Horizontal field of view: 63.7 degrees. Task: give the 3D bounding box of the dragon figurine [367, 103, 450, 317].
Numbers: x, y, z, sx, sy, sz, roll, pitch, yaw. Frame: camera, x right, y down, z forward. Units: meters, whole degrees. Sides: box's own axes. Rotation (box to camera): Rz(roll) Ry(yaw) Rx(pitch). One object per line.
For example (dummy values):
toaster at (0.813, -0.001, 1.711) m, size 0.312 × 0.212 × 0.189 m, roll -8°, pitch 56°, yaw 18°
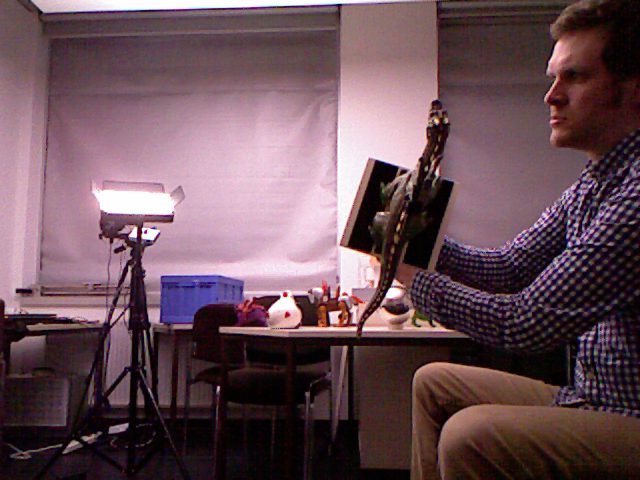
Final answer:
dragon figurine at (0.163, -0.054, 0.958) m, size 0.123 × 0.415 × 0.241 m, roll 16°, pitch -10°, yaw 5°
